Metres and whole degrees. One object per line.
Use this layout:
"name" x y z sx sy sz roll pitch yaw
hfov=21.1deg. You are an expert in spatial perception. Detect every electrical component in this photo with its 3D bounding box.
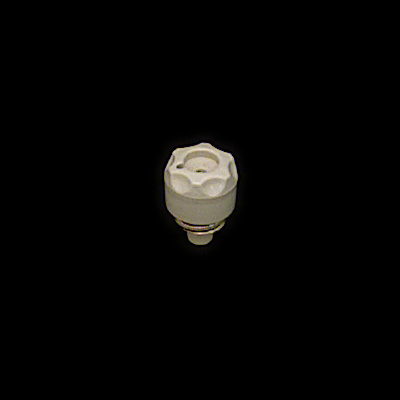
"electrical component" 0.000 0.000 0.639 0.043 0.062 0.043 1 42 0
